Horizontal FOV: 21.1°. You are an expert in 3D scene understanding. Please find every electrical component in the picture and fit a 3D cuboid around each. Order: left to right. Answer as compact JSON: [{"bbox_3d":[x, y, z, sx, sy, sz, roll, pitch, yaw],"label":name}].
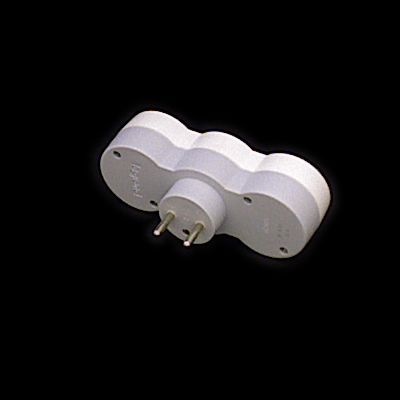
[{"bbox_3d":[0.000,0.000,0.633,0.138,0.052,0.073,20,47,18],"label":"electrical component"}]
